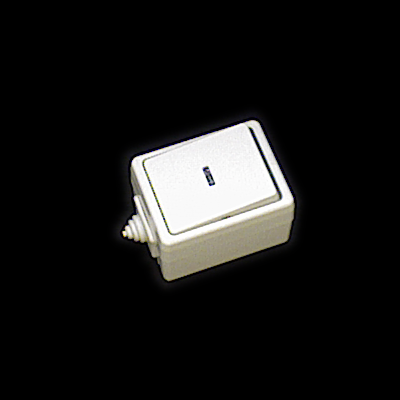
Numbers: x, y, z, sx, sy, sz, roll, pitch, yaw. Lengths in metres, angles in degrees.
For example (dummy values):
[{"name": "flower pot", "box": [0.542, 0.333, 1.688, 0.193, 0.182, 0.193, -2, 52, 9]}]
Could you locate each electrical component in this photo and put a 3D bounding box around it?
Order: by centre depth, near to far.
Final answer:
[{"name": "electrical component", "box": [0.000, 0.000, 0.626, 0.096, 0.062, 0.061, -18, -26, -9]}]
